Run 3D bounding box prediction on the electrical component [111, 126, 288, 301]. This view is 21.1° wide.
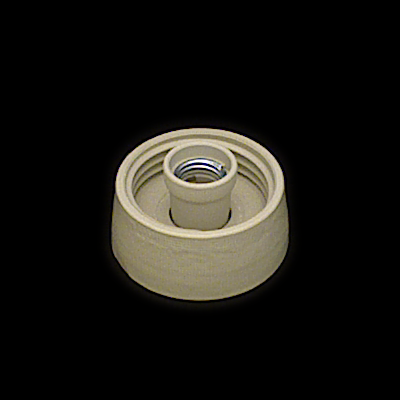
[{"bbox_3d":[0.000,0.000,0.636,0.108,0.061,0.107,1,43,0],"label":"electrical component"}]
